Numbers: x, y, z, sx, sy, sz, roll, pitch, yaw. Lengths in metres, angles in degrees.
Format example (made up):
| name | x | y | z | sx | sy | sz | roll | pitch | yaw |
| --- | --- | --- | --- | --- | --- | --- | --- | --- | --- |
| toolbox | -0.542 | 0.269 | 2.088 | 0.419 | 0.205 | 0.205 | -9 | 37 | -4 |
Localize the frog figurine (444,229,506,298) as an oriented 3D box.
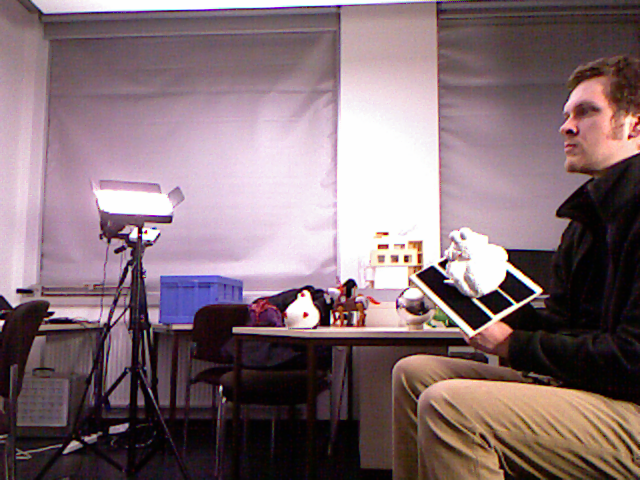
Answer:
| name | x | y | z | sx | sy | sz | roll | pitch | yaw |
| --- | --- | --- | --- | --- | --- | --- | --- | --- | --- |
| frog figurine | 0.337 | 0.046 | 1.120 | 0.137 | 0.126 | 0.156 | -11 | -41 | 1 |
